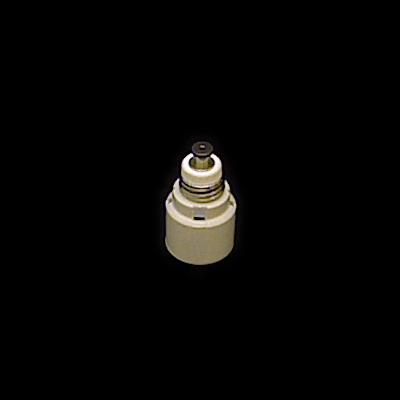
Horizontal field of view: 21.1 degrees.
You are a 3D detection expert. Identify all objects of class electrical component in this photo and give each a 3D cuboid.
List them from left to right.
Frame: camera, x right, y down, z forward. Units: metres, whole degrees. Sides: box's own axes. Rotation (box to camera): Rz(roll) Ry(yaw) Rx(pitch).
[{"bbox_3d":[0.000,0.000,0.624,0.040,0.079,0.039,1,41,-1],"label":"electrical component"}]
